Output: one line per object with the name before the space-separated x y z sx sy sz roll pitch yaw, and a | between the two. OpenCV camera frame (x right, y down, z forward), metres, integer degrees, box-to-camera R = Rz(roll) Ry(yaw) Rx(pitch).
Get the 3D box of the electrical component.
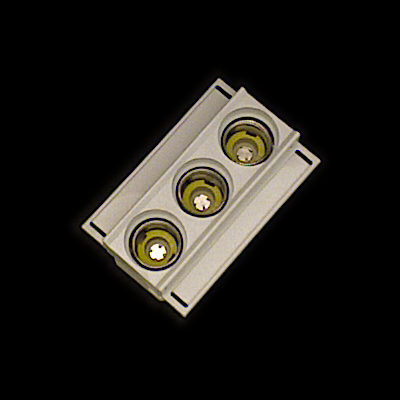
electrical component | 0.000 0.000 0.637 0.078 0.122 0.063 40 -12 10
